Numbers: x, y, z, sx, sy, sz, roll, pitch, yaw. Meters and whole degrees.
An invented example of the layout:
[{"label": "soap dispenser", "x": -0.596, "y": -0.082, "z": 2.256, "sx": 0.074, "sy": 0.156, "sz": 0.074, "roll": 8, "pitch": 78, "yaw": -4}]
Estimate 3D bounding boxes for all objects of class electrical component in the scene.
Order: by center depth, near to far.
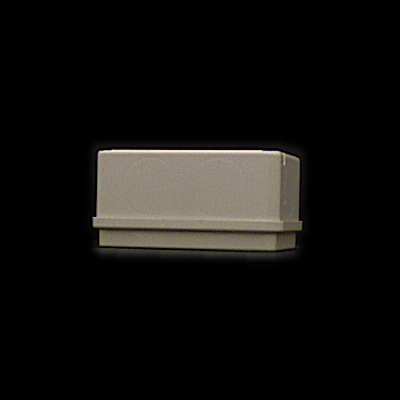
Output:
[{"label": "electrical component", "x": 0.000, "y": 0.000, "z": 0.649, "sx": 0.113, "sy": 0.057, "sz": 0.078, "roll": 1, "pitch": 0, "yaw": 15}]
